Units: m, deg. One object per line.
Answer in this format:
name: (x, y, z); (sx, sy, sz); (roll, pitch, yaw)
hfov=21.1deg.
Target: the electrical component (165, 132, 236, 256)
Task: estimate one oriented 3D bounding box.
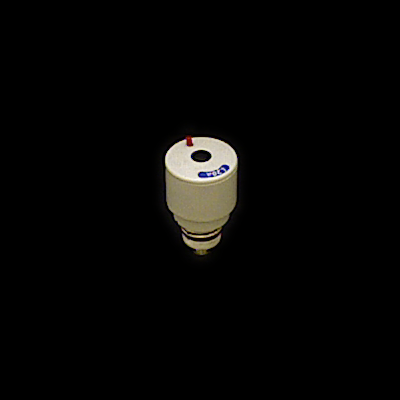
electrical component: (0.000, 0.000, 0.626); (0.040, 0.079, 0.039); (0, 41, 0)
